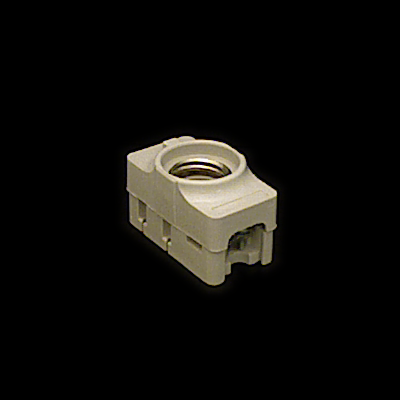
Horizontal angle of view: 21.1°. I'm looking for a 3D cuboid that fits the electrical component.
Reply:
[{"bbox_3d":[0.000,0.000,0.643,0.050,0.056,0.088,-22,39,-32],"label":"electrical component"}]
